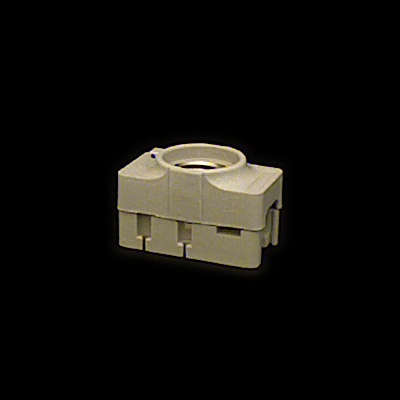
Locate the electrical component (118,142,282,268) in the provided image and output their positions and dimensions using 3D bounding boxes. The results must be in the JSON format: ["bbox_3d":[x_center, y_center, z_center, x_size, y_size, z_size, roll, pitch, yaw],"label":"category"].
[{"bbox_3d":[0.000,0.000,0.647,0.089,0.056,0.050,9,23,18],"label":"electrical component"}]
